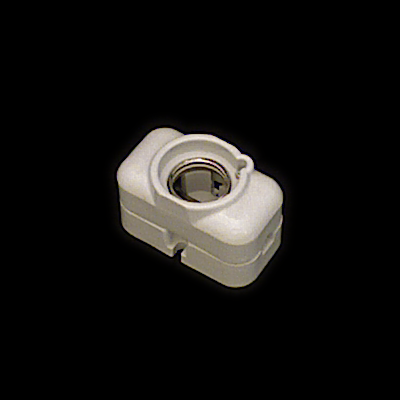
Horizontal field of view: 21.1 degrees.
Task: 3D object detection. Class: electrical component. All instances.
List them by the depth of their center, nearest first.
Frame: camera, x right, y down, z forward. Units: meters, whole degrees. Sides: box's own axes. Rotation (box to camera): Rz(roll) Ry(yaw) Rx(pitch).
[{"bbox_3d":[0.000,0.000,0.636,0.094,0.054,0.059,27,-32,18],"label":"electrical component"}]
